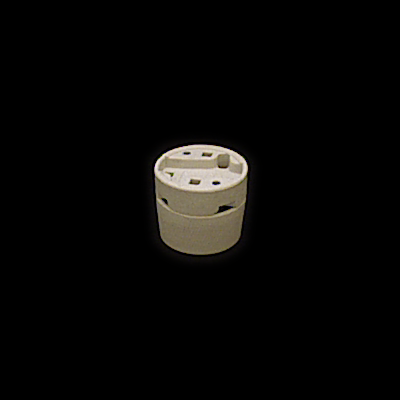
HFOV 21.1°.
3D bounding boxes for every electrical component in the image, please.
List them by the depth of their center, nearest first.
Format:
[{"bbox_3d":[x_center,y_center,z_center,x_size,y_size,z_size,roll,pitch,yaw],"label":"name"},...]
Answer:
[{"bbox_3d":[0.000,0.000,0.638,0.055,0.047,0.055,1,31,0],"label":"electrical component"}]
